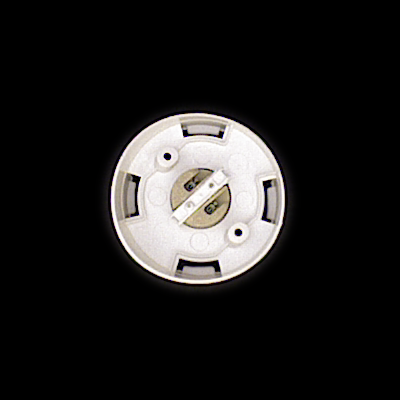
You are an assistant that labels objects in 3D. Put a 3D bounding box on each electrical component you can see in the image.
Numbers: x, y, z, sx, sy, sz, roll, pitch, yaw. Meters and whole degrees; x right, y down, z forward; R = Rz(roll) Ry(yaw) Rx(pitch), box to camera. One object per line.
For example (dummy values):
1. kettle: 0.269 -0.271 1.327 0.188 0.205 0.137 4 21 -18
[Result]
1. electrical component: 0.000 0.000 0.624 0.099 0.099 0.064 0 -6 0
